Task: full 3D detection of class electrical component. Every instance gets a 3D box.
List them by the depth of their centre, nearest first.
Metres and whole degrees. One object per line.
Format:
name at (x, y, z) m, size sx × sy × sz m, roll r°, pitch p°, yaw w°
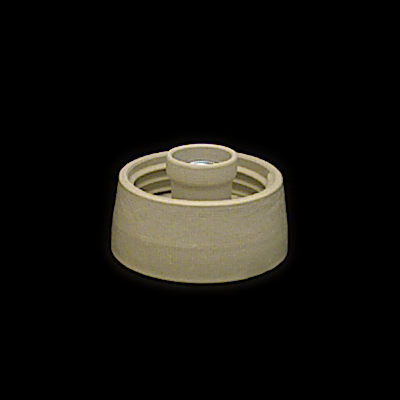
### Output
electrical component at (0.000, 0.000, 0.645) m, size 0.108 × 0.061 × 0.106 m, roll 1°, pitch 21°, yaw 0°
